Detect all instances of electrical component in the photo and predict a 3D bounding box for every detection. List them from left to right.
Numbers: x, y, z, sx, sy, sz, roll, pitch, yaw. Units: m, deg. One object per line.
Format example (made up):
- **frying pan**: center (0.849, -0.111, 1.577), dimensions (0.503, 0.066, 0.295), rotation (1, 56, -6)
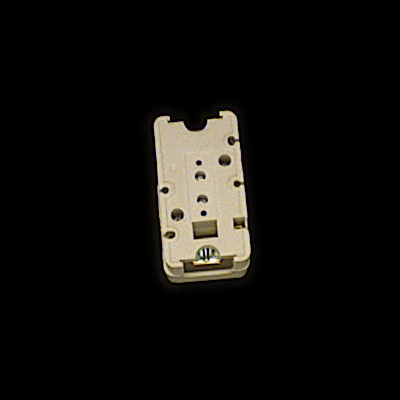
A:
- **electrical component**: center (0.000, 0.000, 0.636), dimensions (0.050, 0.090, 0.055), rotation (-5, -16, -1)
